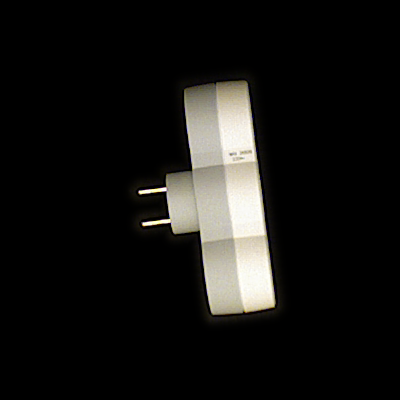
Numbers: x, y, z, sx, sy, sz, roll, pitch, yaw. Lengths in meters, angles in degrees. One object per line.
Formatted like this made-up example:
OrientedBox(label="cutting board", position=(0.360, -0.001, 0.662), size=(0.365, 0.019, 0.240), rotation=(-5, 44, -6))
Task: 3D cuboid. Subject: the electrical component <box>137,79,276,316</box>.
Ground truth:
OrientedBox(label="electrical component", position=(0.000, 0.000, 0.639), size=(0.074, 0.138, 0.052), rotation=(-7, -6, 1))
